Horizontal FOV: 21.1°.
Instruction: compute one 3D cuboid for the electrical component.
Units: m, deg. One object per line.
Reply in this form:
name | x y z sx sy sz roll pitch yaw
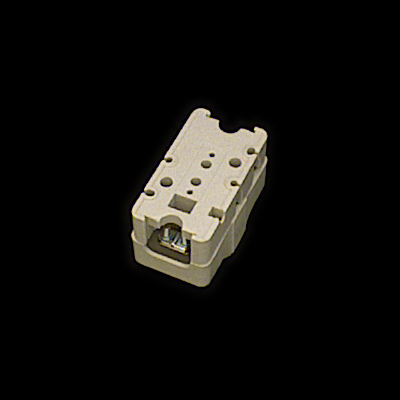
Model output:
electrical component | 0.000 0.000 0.637 0.050 0.090 0.056 21 -34 14
